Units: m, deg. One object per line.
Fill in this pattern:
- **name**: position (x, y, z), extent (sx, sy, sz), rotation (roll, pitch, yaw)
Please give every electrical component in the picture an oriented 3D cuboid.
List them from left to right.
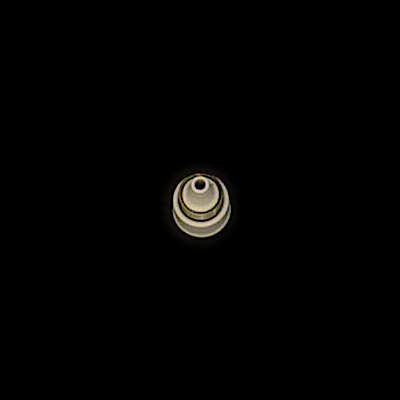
- **electrical component**: position (0.000, 0.000, 0.637), extent (0.035, 0.035, 0.061), rotation (0, -17, 1)
